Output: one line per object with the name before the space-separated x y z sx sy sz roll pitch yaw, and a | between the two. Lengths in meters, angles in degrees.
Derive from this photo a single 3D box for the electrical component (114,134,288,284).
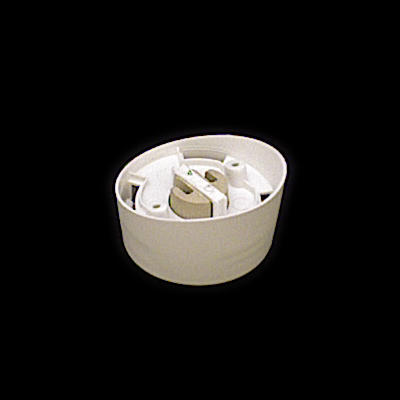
electrical component | 0.000 0.000 0.629 0.099 0.065 0.098 1 42 -1
